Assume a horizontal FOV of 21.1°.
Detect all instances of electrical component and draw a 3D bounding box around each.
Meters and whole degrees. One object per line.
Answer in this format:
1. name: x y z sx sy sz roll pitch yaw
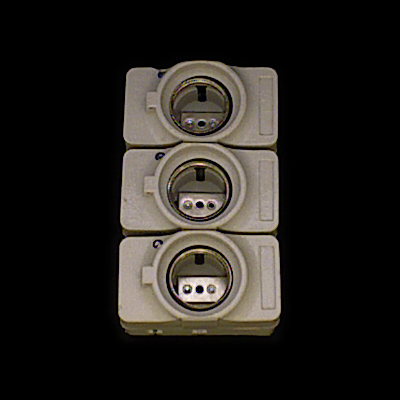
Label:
1. electrical component: 0.000 0.000 0.631 0.089 0.150 0.062 0 -17 1
